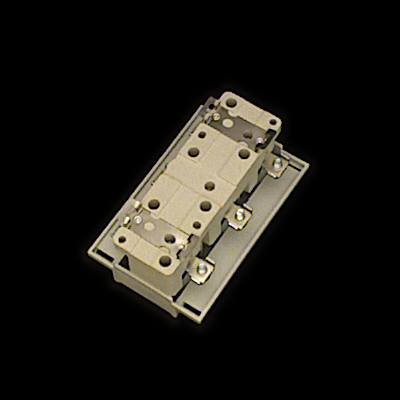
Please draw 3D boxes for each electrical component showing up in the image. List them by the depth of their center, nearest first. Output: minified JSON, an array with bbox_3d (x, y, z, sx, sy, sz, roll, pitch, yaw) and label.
[{"bbox_3d":[0.000,0.000,0.634,0.078,0.122,0.063,30,-23,15],"label":"electrical component"}]
